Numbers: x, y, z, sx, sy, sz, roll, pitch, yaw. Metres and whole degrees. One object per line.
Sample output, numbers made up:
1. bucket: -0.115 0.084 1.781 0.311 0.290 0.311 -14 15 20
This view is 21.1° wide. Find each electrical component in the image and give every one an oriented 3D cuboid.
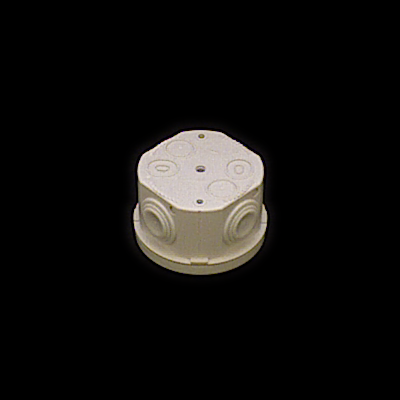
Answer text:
1. electrical component: 0.000 0.000 0.635 0.080 0.051 0.079 1 42 0
